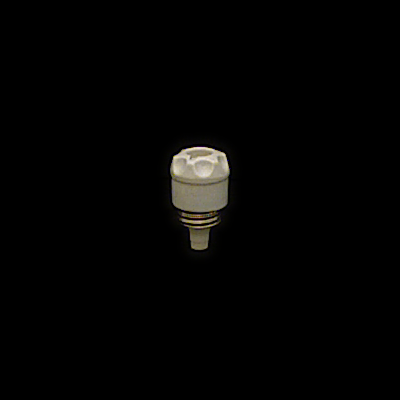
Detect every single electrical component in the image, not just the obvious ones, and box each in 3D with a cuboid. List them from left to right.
[{"bbox_3d":[0.000,0.000,0.644,0.035,0.062,0.035,1,22,0],"label":"electrical component"}]
